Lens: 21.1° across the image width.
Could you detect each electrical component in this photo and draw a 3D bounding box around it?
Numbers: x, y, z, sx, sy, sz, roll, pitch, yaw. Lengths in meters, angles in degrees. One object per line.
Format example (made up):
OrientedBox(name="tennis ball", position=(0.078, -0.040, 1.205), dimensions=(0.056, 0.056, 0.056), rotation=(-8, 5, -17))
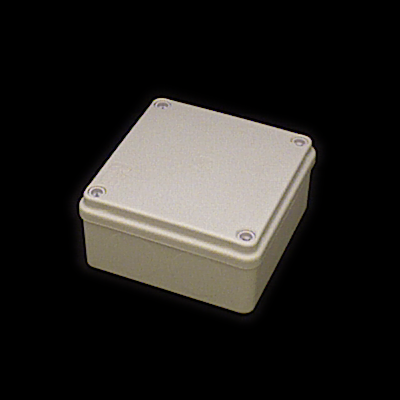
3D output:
OrientedBox(name="electrical component", position=(0.000, 0.000, 0.633), dimensions=(0.108, 0.057, 0.108), rotation=(16, 44, 16))
